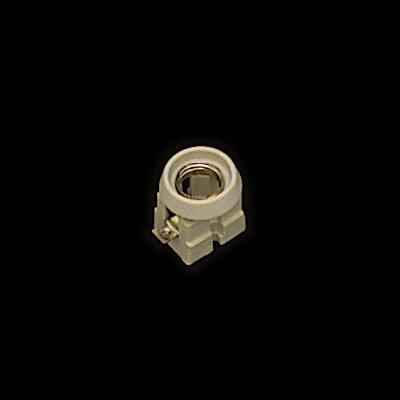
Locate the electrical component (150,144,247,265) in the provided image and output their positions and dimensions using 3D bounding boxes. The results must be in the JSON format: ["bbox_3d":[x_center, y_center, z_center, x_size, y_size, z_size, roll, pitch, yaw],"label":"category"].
[{"bbox_3d":[0.000,0.000,0.637,0.067,0.055,0.048,-33,58,-23],"label":"electrical component"}]
